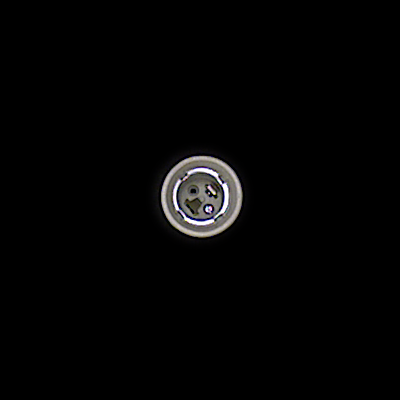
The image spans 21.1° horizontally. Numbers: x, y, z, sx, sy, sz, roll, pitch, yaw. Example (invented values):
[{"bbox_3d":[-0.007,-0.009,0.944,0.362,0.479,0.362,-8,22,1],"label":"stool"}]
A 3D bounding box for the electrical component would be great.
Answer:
[{"bbox_3d":[0.000,0.000,0.624,0.044,0.044,0.065,0,-5,0],"label":"electrical component"}]
